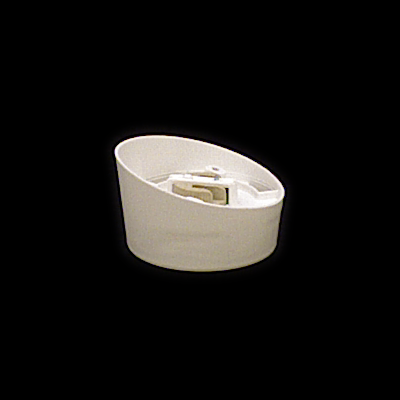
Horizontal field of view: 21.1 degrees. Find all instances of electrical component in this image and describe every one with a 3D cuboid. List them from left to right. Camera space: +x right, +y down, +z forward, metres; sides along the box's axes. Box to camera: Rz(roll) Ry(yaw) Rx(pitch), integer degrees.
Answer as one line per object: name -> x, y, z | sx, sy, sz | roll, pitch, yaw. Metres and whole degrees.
electrical component -> 0.000, 0.000, 0.637 | 0.099, 0.065, 0.097 | 0, 21, 0
